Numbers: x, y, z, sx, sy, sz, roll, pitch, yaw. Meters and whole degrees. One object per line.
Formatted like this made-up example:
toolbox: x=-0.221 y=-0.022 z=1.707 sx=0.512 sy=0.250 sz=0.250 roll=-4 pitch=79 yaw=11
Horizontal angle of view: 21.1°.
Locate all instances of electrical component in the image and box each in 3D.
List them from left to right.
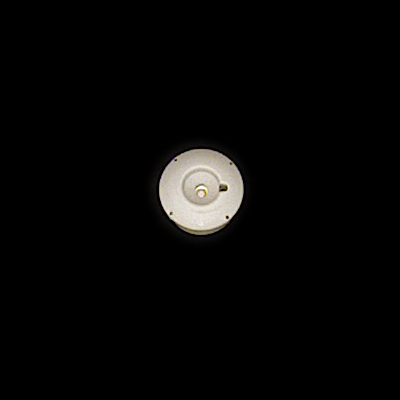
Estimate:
electrical component: x=0.000 y=0.000 z=0.634 sx=0.048 sy=0.048 sz=0.062 roll=0 pitch=-16 yaw=1
